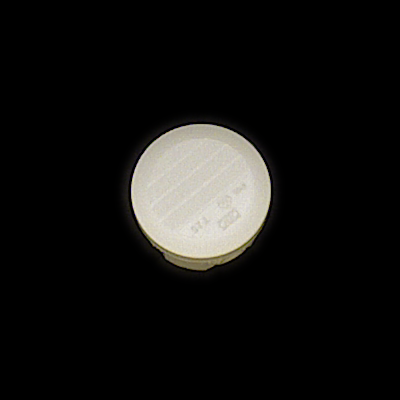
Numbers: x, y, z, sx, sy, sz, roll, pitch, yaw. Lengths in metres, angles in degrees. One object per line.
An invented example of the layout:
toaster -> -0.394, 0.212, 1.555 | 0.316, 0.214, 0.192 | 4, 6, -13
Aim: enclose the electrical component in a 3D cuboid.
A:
electrical component -> 0.000, 0.000, 0.629 | 0.080, 0.080, 0.050 | 0, -17, 0
